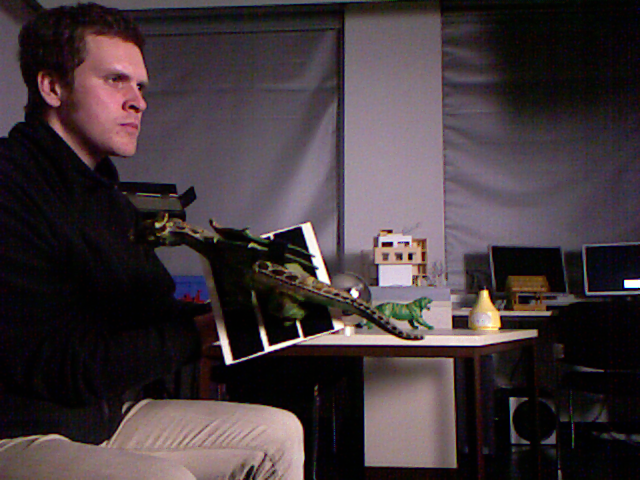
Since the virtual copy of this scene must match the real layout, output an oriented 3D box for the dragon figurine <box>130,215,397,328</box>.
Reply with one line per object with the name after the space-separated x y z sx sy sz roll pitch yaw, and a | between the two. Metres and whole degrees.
-0.072 0.045 0.756 0.412 0.124 0.240 14 -16 5 | dragon figurine
